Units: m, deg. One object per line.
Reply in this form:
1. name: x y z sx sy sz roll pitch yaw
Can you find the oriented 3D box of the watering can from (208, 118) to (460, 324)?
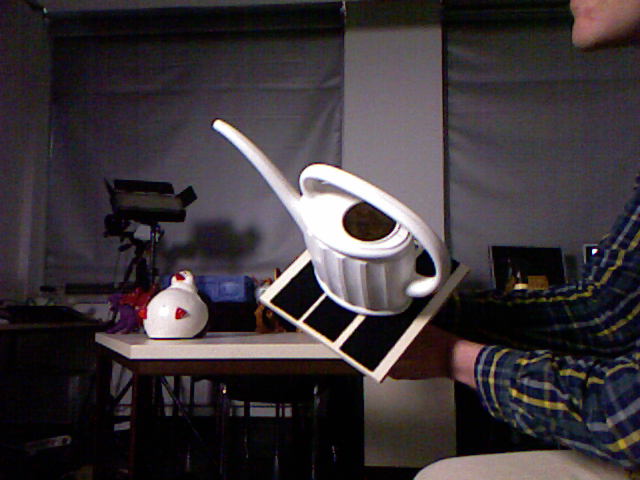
1. watering can: 0.010 -0.020 0.641 0.354 0.106 0.221 31 -30 26
